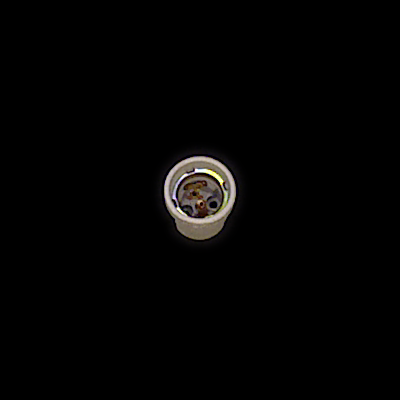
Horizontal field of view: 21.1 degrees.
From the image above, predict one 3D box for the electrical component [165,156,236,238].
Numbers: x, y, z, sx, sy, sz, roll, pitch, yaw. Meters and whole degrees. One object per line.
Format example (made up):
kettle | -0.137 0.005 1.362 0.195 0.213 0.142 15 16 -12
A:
electrical component | 0.000 0.000 0.627 0.040 0.040 0.046 0 -17 -1
